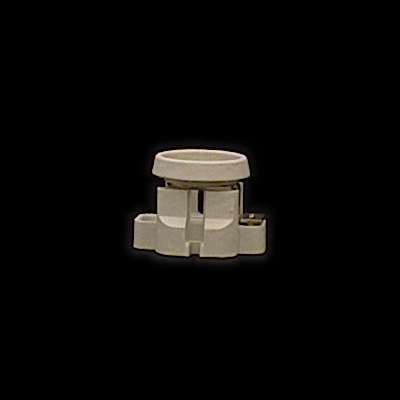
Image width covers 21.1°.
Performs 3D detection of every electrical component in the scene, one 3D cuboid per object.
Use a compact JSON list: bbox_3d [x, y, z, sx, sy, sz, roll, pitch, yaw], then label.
[{"bbox_3d":[0.000,0.000,0.645,0.078,0.057,0.057,3,11,7],"label":"electrical component"}]
